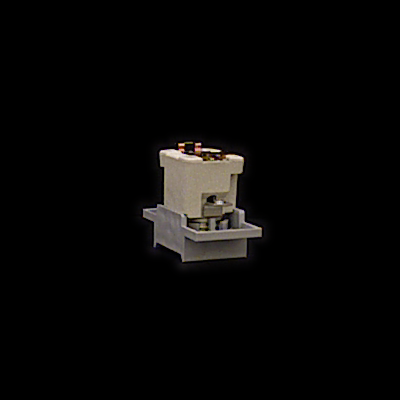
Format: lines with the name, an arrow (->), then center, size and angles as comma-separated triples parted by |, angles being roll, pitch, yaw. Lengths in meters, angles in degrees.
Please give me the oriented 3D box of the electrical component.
electrical component -> 0.000, 0.000, 0.644 | 0.042, 0.064, 0.080 | -4, 11, -25
